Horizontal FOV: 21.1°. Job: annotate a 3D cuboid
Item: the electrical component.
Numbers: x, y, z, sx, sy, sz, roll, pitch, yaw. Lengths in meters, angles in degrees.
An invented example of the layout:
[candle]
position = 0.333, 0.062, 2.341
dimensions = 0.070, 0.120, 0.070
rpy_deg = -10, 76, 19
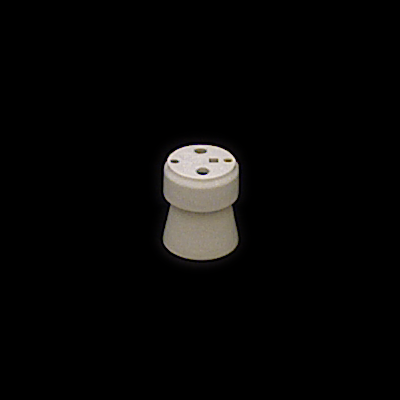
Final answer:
[electrical component]
position = 0.000, 0.000, 0.634
dimensions = 0.045, 0.056, 0.044
rpy_deg = 0, 32, 0
